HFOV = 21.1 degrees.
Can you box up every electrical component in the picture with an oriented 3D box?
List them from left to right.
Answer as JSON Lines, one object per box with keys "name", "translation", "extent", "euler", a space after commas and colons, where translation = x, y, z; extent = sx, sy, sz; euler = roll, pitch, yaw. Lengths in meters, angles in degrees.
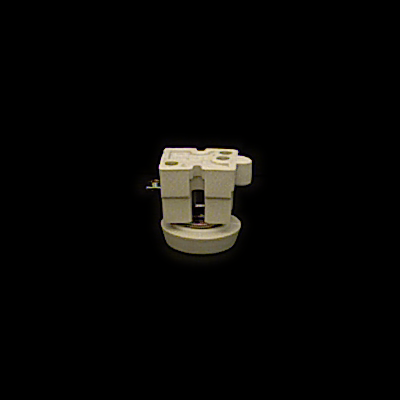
{"name": "electrical component", "translation": [0.000, 0.000, 0.648], "extent": [0.066, 0.056, 0.048], "euler": [2, 23, 4]}
